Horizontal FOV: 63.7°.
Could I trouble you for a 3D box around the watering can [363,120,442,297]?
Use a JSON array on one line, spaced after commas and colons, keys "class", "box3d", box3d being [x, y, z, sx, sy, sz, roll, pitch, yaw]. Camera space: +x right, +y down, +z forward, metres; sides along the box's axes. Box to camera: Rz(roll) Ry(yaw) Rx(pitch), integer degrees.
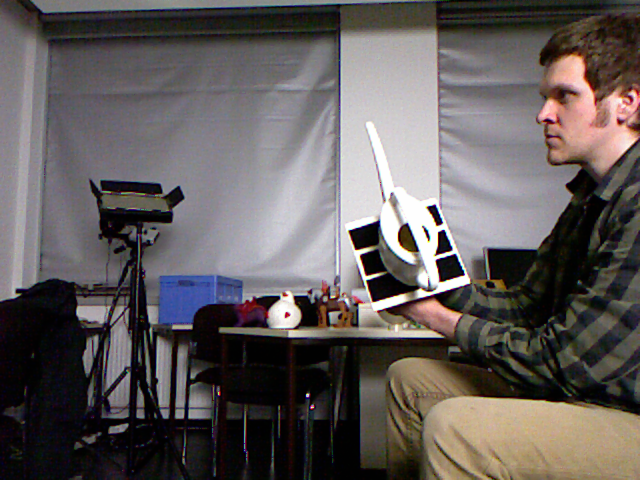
[{"class": "watering can", "box3d": [0.152, -0.048, 1.012, 0.104, 0.354, 0.222, -17, -18, -7]}]
